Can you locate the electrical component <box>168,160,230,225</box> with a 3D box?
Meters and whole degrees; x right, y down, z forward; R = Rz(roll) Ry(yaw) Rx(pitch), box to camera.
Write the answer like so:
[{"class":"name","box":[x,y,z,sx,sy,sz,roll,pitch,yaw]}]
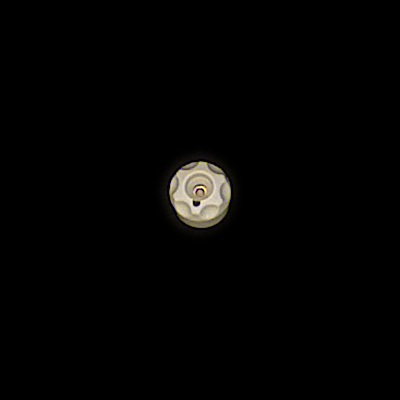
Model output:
[{"class":"electrical component","box":[0.000,0.000,0.633,0.035,0.035,0.061,0,-16,1]}]
